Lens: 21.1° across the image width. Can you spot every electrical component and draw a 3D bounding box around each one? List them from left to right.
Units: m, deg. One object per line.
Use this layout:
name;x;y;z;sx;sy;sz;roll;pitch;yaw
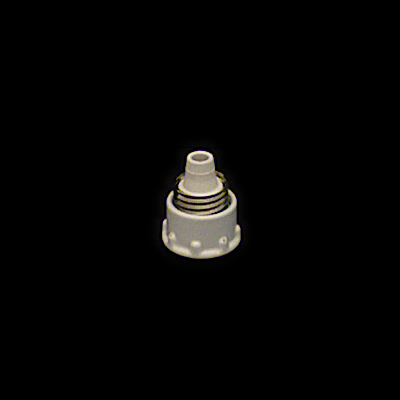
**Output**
electrical component;0.000;0.000;0.640;0.048;0.063;0.047;0;32;1
